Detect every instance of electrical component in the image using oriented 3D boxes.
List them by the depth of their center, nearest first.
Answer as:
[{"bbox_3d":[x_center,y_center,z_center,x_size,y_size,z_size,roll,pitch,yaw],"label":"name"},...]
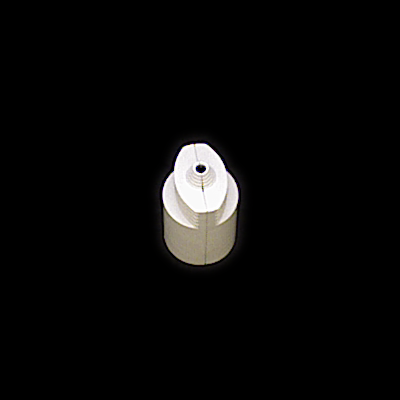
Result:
[{"bbox_3d":[0.000,0.000,0.617,0.043,0.043,0.081,0,-27,0],"label":"electrical component"}]
